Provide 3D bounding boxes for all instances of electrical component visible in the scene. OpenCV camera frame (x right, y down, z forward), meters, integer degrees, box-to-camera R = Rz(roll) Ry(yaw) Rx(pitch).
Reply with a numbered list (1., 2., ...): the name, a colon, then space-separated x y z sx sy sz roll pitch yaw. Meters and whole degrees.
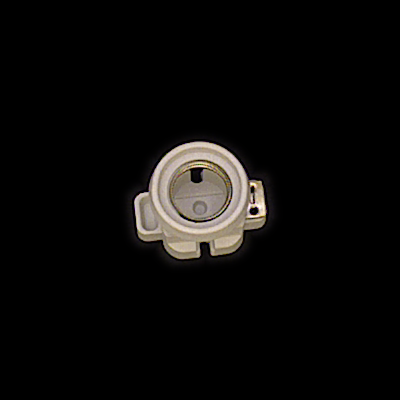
1. electrical component: 0.000 0.000 0.629 0.078 0.058 0.056 -7 -17 -2
